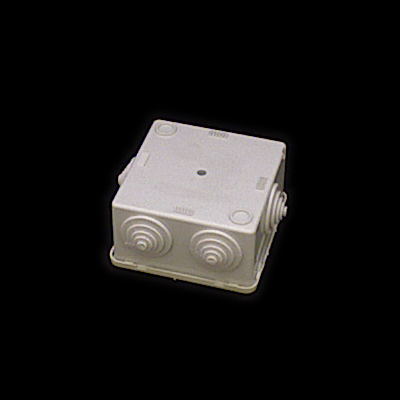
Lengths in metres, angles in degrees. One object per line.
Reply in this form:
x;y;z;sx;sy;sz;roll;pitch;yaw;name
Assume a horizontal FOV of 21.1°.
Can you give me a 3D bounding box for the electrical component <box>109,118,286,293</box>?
0.000;0.000;0.634;0.099;0.049;0.099;11;44;11;electrical component
